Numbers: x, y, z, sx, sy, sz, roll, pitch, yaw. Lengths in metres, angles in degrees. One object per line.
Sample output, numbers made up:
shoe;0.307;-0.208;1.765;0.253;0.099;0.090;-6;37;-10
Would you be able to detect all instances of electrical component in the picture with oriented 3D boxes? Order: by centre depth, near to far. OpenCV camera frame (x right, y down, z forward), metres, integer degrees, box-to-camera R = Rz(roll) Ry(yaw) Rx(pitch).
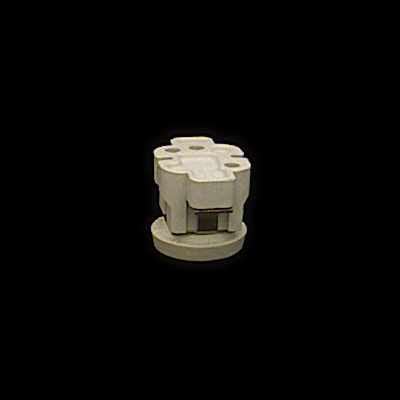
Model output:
electrical component;0.000;0.000;0.645;0.058;0.057;0.077;-3;24;-12
